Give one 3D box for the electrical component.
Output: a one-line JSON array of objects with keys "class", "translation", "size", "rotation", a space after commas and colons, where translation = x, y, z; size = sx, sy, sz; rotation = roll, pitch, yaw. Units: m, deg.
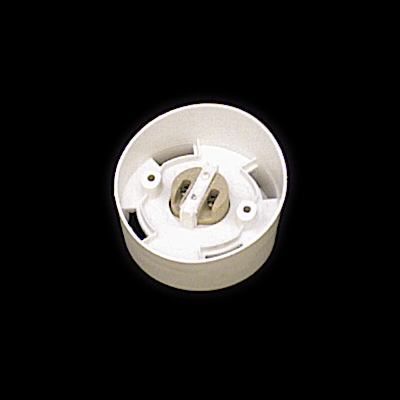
[{"class": "electrical component", "translation": [0.000, 0.000, 0.626], "size": [0.099, 0.098, 0.064], "rotation": [0, -38, 0]}]
